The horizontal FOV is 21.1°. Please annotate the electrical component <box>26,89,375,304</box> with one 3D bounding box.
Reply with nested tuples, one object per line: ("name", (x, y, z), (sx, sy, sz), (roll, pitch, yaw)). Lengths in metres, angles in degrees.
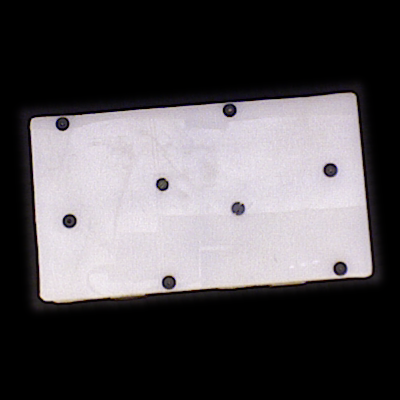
("electrical component", (0.000, 0.000, 0.626), (0.186, 0.106, 0.060), (-4, -7, 0))
